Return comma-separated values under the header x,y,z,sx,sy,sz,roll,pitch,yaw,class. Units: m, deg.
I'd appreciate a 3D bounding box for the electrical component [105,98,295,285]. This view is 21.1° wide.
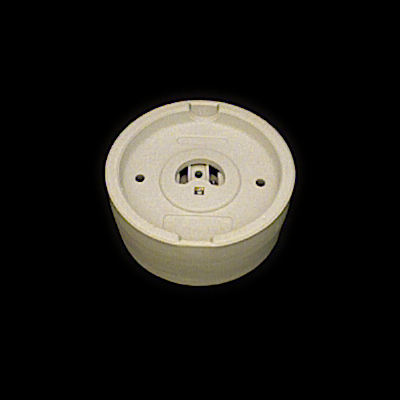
x,y,z,sx,sy,sz,roll,pitch,yaw,class
0.000,0.000,0.633,0.108,0.107,0.060,0,-37,-1,electrical component
